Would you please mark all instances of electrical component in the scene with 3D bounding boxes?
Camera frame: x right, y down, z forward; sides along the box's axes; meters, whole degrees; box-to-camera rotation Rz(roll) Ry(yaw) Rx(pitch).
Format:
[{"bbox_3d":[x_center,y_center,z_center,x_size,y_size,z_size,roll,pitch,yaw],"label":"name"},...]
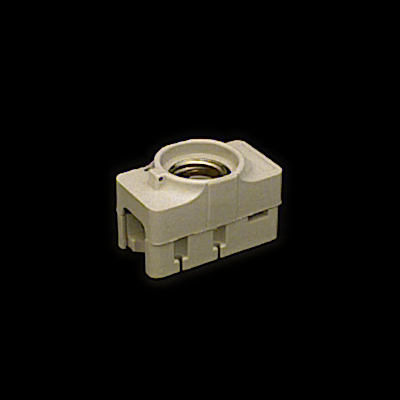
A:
[{"bbox_3d":[0.000,0.000,0.643,0.090,0.056,0.049,-18,37,-28],"label":"electrical component"}]
